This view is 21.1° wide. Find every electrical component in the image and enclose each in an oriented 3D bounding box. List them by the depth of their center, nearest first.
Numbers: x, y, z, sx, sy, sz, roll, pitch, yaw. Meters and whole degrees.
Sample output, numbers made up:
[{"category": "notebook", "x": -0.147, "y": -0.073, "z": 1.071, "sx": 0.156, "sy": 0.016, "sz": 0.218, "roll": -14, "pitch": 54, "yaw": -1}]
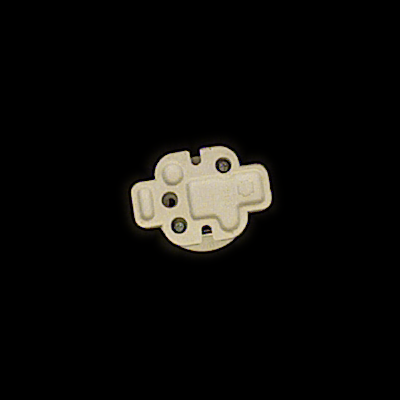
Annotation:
[{"category": "electrical component", "x": 0.000, "y": 0.000, "z": 0.637, "sx": 0.078, "sy": 0.058, "sz": 0.056, "roll": -10, "pitch": -6, "yaw": -2}]
